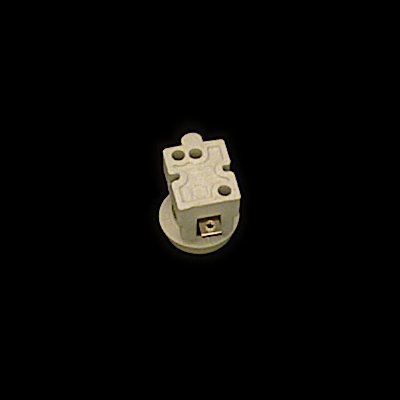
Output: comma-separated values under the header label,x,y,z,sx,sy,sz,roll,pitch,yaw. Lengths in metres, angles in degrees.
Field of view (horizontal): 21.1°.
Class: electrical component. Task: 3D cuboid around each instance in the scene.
label,x,y,z,sx,sy,sz,roll,pitch,yaw
electrical component,0.000,0.000,0.638,0.048,0.066,0.055,-10,-35,-9
